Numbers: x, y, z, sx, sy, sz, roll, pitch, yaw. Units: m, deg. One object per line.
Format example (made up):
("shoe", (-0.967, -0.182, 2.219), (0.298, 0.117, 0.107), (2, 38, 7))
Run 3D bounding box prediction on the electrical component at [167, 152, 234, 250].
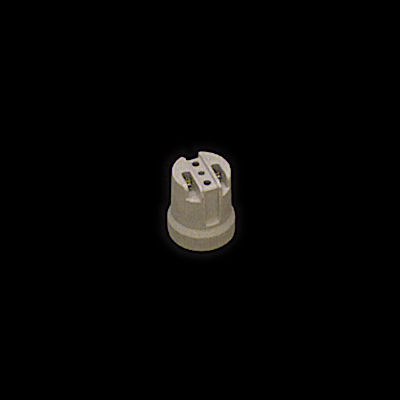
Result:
("electrical component", (0.000, 0.000, 0.634), (0.040, 0.046, 0.040), (0, 42, 0))
